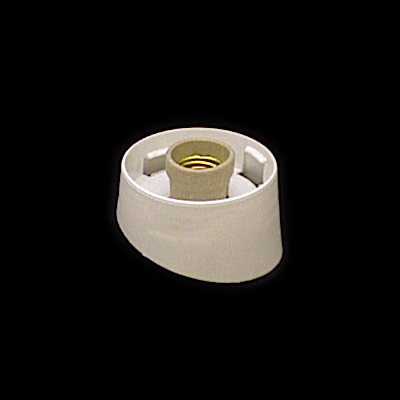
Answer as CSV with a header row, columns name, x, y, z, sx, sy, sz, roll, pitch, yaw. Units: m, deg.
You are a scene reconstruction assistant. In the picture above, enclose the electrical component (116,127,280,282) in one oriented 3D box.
name,x,y,z,sx,sy,sz,roll,pitch,yaw
electrical component,0.000,0.000,0.633,0.099,0.065,0.097,1,31,0
